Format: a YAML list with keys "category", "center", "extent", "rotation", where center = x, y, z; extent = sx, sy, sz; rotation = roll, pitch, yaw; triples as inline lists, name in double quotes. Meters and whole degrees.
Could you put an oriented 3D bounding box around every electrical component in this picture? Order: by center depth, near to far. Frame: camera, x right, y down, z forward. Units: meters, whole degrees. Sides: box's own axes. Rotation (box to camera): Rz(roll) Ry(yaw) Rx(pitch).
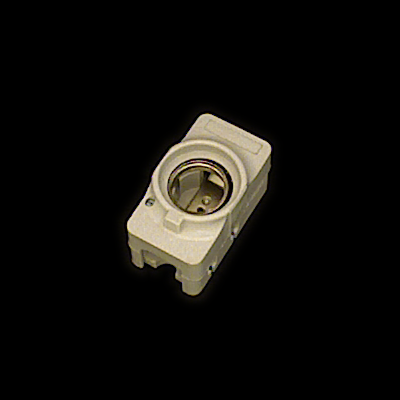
- category: "electrical component"
  center: [0.000, 0.000, 0.636]
  extent: [0.050, 0.090, 0.055]
  rotation: [27, -24, 13]
